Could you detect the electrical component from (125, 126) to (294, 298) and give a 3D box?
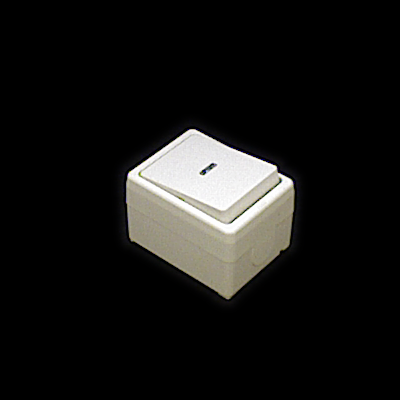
[{"bbox_3d":[0.000,0.000,0.632,0.095,0.061,0.061,29,49,28],"label":"electrical component"}]
